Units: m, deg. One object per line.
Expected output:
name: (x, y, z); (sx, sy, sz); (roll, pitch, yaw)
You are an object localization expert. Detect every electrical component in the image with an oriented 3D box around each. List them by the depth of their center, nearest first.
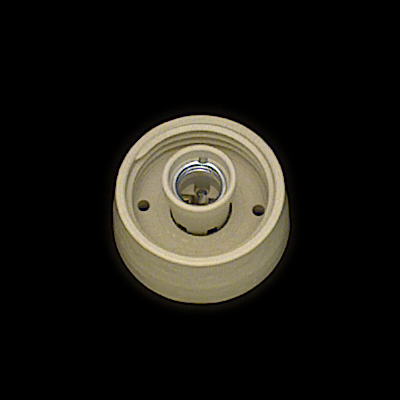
electrical component: (0.000, 0.000, 0.634); (0.108, 0.108, 0.060); (0, -27, 0)
